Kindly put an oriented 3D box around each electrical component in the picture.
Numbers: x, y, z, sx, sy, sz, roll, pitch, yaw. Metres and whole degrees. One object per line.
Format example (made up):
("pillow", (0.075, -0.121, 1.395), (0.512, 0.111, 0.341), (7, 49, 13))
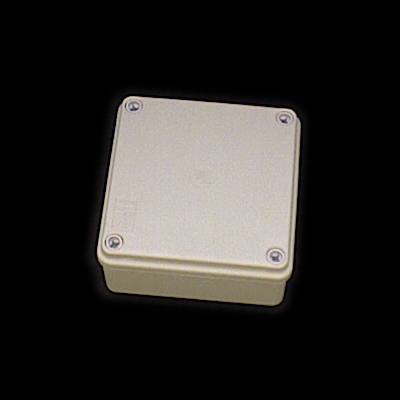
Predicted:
("electrical component", (0.000, 0.000, 0.630), (0.109, 0.109, 0.056), (5, -28, 2))
